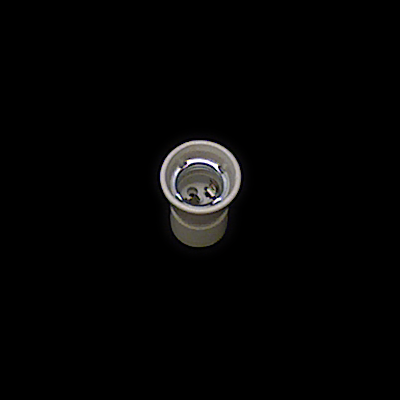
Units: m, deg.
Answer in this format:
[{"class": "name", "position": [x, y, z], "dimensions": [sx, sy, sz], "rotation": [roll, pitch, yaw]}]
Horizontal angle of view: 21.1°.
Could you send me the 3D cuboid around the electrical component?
[{"class": "electrical component", "position": [0.000, 0.000, 0.624], "dimensions": [0.044, 0.044, 0.065], "rotation": [0, -27, -1]}]
